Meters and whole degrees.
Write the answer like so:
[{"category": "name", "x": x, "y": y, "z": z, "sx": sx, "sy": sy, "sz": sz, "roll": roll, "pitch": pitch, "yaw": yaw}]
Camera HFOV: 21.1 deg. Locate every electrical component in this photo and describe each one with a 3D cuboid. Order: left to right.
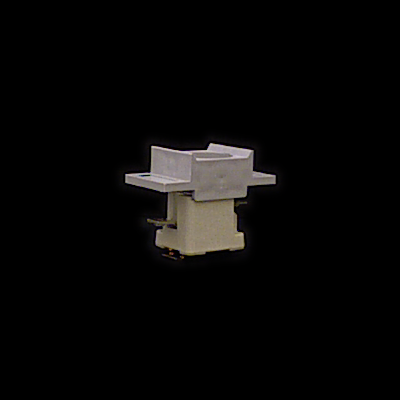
[{"category": "electrical component", "x": 0.000, "y": 0.000, "z": 0.641, "sx": 0.081, "sy": 0.064, "sz": 0.042, "roll": -6, "pitch": 14, "yaw": -35}]
